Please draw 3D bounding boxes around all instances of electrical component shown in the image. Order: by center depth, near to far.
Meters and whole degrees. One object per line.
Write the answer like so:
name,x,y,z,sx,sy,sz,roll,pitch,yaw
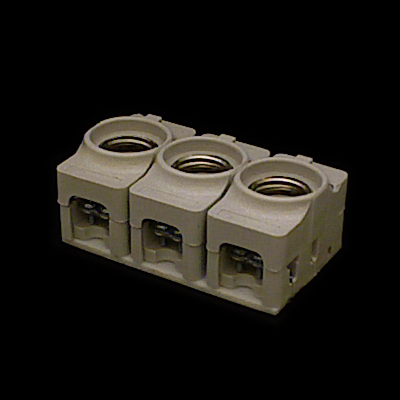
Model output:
electrical component,0.000,0.000,0.642,0.149,0.063,0.088,18,34,25
